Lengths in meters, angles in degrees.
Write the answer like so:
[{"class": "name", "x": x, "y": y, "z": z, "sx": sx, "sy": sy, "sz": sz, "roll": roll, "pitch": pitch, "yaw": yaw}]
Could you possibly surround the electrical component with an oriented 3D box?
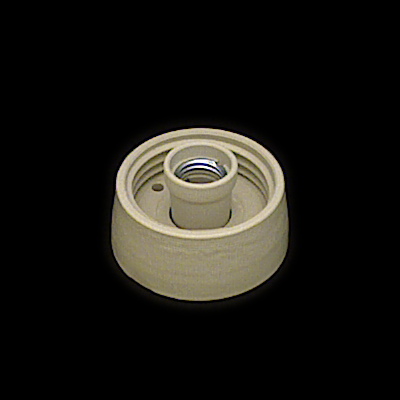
[{"class": "electrical component", "x": 0.000, "y": 0.000, "z": 0.636, "sx": 0.108, "sy": 0.061, "sz": 0.107, "roll": 1, "pitch": 43, "yaw": 0}]
